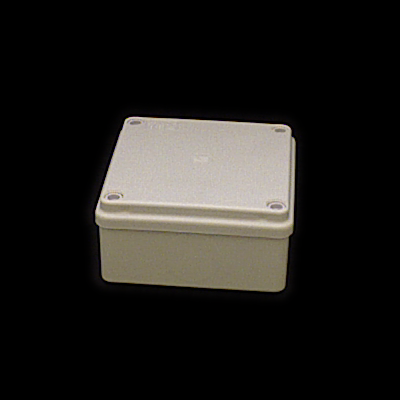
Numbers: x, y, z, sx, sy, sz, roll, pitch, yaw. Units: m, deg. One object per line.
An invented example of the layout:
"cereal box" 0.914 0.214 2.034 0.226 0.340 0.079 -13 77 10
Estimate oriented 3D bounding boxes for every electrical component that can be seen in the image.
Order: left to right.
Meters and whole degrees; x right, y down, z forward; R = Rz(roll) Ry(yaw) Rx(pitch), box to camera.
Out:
"electrical component" 0.000 0.000 0.634 0.109 0.057 0.107 3 32 4
